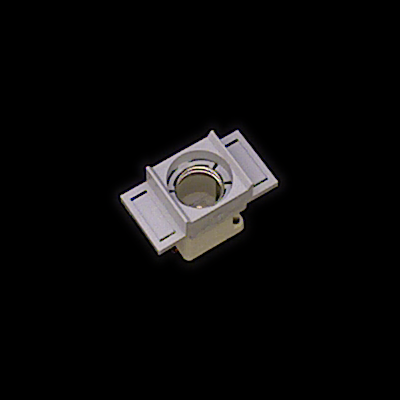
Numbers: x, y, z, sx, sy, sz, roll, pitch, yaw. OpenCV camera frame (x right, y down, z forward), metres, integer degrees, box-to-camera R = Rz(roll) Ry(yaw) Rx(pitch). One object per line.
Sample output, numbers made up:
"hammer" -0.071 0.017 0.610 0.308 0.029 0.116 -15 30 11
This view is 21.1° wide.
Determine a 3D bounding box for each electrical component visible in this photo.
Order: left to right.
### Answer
"electrical component" 0.000 0.000 0.623 0.081 0.042 0.063 -30 -22 -15
